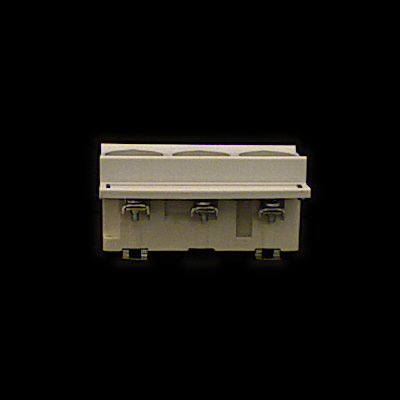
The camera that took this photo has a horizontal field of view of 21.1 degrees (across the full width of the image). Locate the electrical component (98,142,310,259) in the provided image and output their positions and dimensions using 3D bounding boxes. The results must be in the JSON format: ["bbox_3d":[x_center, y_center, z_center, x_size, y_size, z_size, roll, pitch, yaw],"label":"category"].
[{"bbox_3d":[0.000,0.000,0.656,0.121,0.063,0.078,0,13,-4],"label":"electrical component"}]
